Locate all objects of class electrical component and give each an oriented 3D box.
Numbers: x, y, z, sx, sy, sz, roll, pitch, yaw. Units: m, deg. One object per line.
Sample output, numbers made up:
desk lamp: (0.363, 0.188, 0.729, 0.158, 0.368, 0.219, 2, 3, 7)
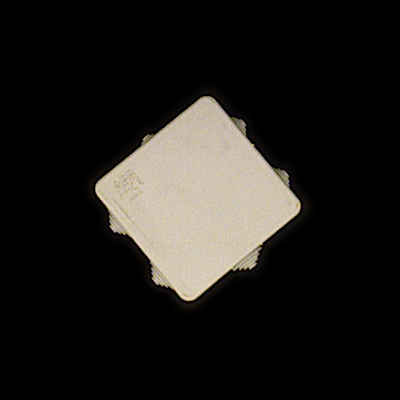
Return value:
electrical component: (0.000, 0.000, 0.642, 0.100, 0.100, 0.048, -39, -5, -4)
